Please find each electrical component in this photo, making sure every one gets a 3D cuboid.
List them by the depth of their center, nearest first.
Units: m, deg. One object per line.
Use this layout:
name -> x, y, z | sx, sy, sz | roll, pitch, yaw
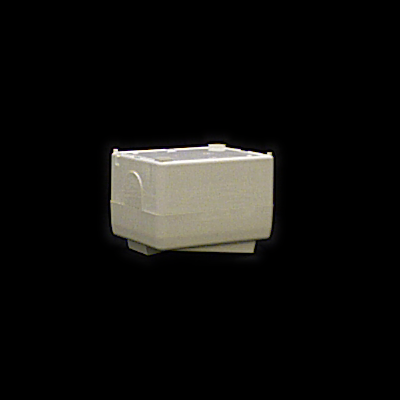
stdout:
electrical component -> 0.000, 0.000, 0.650 | 0.096, 0.061, 0.061 | -6, 12, -32
